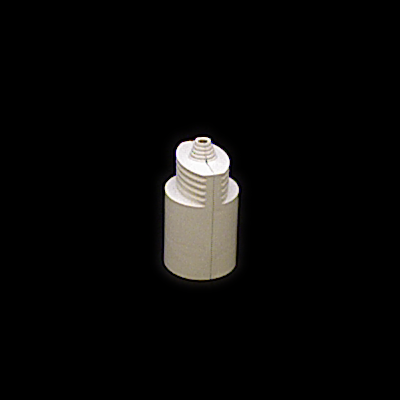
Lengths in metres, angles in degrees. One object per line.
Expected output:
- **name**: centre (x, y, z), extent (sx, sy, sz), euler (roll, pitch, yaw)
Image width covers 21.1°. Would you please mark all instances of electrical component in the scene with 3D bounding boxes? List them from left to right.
- **electrical component**: centre (0.000, 0.000, 0.628), extent (0.043, 0.082, 0.042), euler (1, 31, 0)
